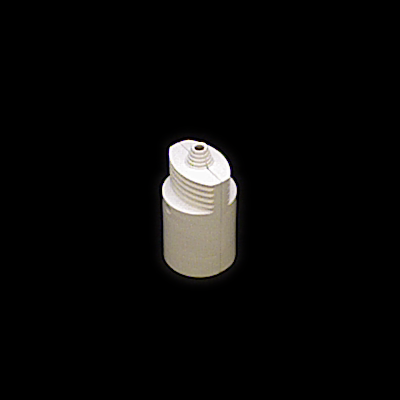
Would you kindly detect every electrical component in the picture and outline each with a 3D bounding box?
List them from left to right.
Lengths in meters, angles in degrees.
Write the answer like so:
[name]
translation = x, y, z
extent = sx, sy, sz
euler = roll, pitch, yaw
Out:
[electrical component]
translation = 0.000, 0.000, 0.624
extent = 0.043, 0.082, 0.042
euler = 0, 41, 0
